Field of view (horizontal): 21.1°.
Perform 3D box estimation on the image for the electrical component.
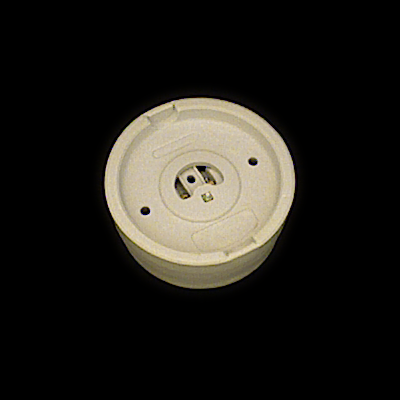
[{"bbox_3d":[0.000,0.000,0.633,0.108,0.108,0.060,0,-27,0],"label":"electrical component"}]
